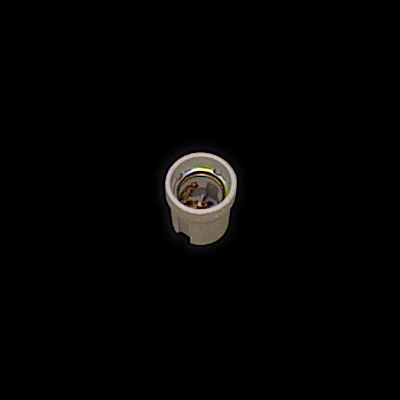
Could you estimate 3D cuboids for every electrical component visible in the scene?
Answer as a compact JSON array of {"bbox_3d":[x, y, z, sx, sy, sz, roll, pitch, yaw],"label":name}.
[{"bbox_3d":[0.000,0.000,0.629,0.040,0.040,0.046,0,-28,-1],"label":"electrical component"}]
